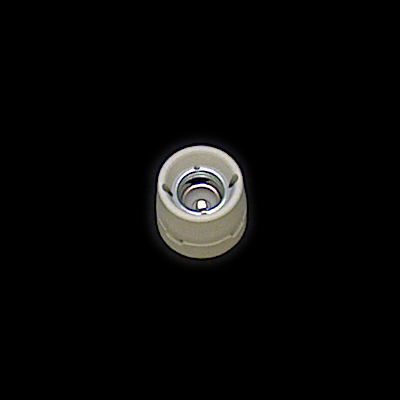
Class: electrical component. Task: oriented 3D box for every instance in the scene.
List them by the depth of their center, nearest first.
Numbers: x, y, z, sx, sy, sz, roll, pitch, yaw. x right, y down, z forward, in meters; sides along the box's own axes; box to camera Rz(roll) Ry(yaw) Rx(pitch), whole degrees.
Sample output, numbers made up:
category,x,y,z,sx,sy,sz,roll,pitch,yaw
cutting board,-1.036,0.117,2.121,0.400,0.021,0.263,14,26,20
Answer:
category,x,y,z,sx,sy,sz,roll,pitch,yaw
electrical component,0.000,0.000,0.633,0.055,0.056,0.047,0,-27,1
